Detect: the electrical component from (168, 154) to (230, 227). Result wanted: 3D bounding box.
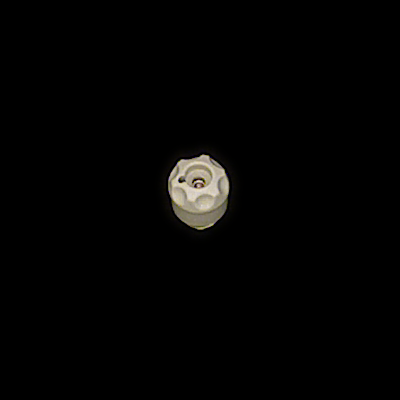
[{"bbox_3d":[0.000,0.000,0.634,0.035,0.035,0.061,0,-27,1],"label":"electrical component"}]
